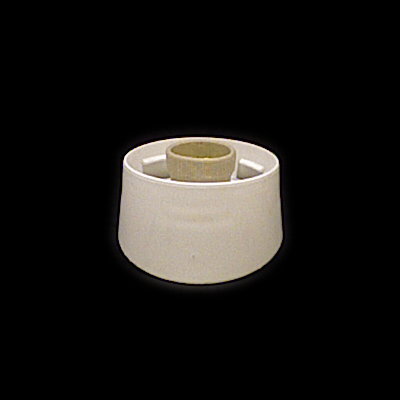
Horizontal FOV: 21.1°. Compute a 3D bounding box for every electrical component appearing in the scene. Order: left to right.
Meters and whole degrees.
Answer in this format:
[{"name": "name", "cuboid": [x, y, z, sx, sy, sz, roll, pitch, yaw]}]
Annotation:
[{"name": "electrical component", "cuboid": [0.000, 0.000, 0.639, 0.099, 0.065, 0.097, 1, 21, 0]}]
